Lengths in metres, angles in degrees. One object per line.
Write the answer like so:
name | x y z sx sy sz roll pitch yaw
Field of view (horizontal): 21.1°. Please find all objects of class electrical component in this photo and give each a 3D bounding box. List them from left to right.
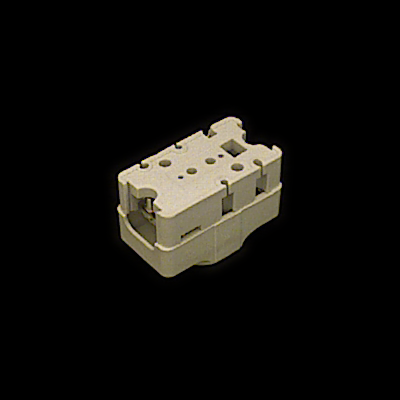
electrical component | 0.000 0.000 0.640 0.090 0.056 0.049 -29 49 -29
